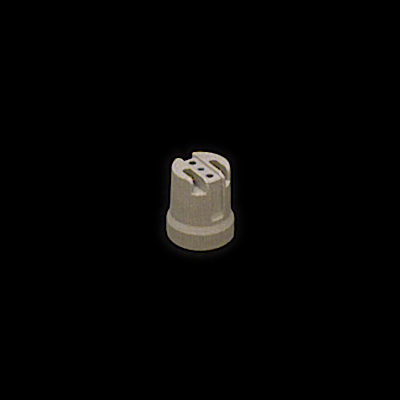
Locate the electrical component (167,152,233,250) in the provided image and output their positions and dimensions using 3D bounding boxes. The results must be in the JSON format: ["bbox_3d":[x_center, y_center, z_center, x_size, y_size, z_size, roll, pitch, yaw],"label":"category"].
[{"bbox_3d":[0.000,0.000,0.637,0.040,0.046,0.040,0,32,0],"label":"electrical component"}]
